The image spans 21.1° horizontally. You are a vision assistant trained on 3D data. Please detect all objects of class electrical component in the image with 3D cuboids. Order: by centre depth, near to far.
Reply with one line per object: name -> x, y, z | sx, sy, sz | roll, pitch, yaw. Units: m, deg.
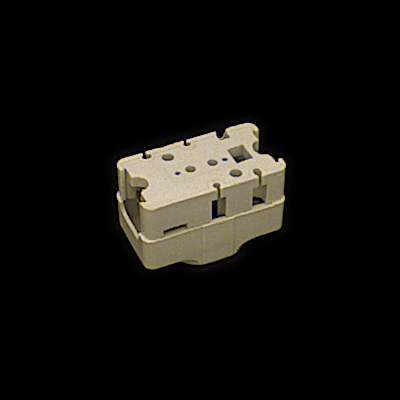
electrical component -> 0.000, 0.000, 0.640 | 0.090, 0.056, 0.049 | -17, 45, -19
